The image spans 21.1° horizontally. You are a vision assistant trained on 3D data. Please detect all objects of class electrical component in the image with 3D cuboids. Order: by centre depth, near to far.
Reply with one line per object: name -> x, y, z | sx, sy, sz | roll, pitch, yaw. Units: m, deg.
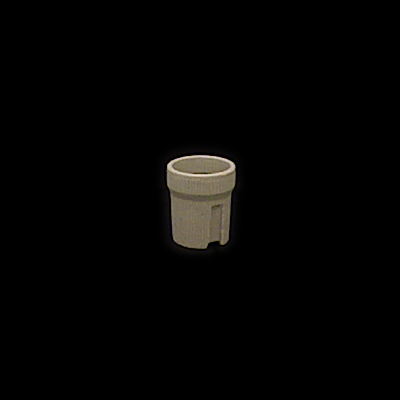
electrical component -> 0.000, 0.000, 0.642 | 0.040, 0.047, 0.039 | 1, 21, 0
